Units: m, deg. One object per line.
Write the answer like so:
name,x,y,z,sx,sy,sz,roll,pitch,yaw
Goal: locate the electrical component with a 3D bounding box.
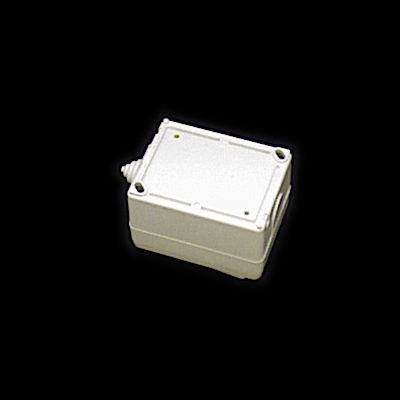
electrical component,0.000,0.000,0.628,0.096,0.062,0.061,15,-36,11
